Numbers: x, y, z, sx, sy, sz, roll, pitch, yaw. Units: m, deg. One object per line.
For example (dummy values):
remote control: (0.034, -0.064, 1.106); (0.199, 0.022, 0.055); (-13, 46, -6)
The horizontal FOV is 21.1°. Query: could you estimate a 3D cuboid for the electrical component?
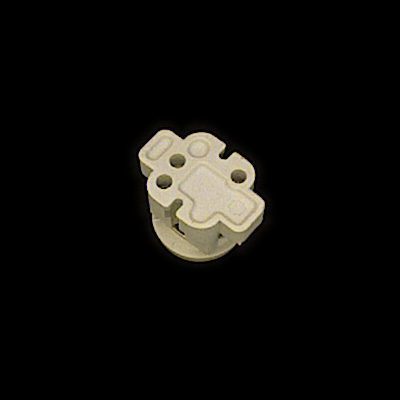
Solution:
electrical component: (0.000, 0.000, 0.636); (0.078, 0.058, 0.057); (36, -22, 15)
